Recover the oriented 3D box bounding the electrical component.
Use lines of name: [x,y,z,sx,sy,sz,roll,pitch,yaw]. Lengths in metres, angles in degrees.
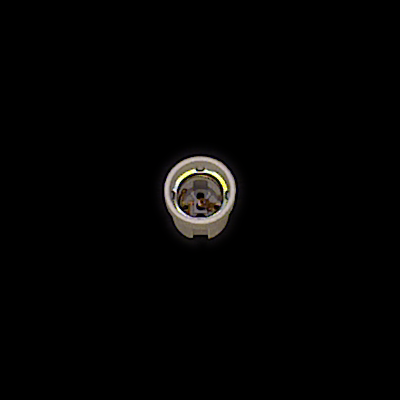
electrical component: [0.000,0.000,0.628,0.040,0.040,0.046,0,-17,0]
